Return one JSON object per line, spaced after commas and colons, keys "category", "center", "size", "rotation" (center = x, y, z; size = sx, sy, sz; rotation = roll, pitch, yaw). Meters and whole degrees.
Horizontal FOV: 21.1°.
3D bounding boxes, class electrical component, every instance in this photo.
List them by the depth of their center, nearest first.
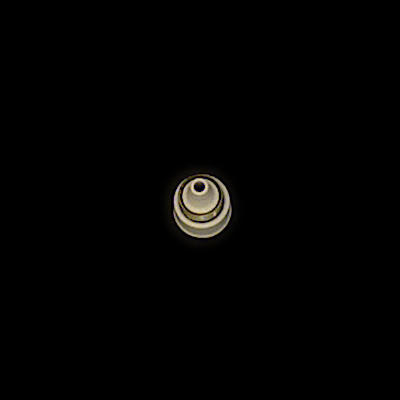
{"category": "electrical component", "center": [0.000, 0.000, 0.636], "size": [0.035, 0.035, 0.061], "rotation": [0, -17, 3]}
